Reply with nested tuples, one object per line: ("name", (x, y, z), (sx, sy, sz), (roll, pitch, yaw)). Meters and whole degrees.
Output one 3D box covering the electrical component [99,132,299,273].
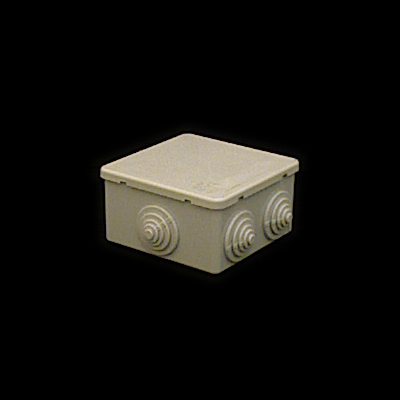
("electrical component", (0.000, 0.000, 0.647), (0.098, 0.049, 0.100), (16, 26, 32))
